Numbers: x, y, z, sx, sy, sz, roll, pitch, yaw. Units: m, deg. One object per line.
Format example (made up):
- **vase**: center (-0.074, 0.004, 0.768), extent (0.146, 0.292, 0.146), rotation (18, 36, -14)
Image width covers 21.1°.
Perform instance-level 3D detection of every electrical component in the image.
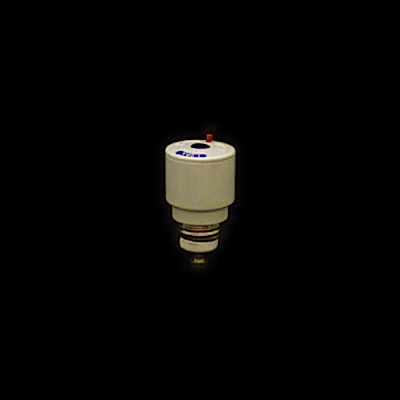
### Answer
- **electrical component**: center (0.000, 0.000, 0.637), extent (0.040, 0.079, 0.039), rotation (1, 21, 0)
